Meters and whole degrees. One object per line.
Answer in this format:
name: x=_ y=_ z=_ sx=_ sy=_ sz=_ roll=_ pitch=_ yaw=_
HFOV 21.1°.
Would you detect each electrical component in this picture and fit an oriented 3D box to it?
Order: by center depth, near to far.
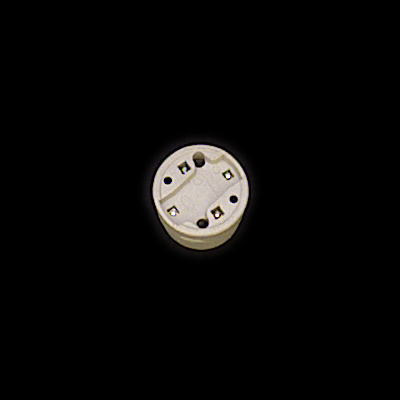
electrical component: x=0.000 y=0.000 z=0.635 sx=0.055 sy=0.056 sz=0.047 roll=0 pitch=-17 yaw=0
